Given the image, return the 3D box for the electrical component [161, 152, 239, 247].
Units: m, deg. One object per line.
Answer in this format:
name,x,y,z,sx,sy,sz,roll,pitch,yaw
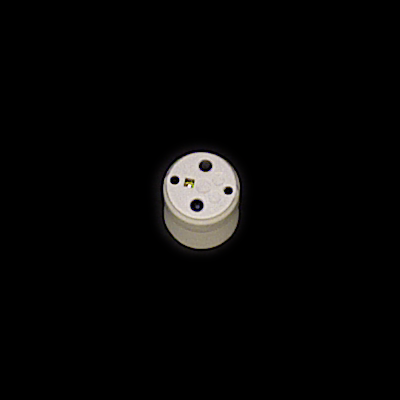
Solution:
electrical component,0.000,0.000,0.629,0.045,0.045,0.055,0,-17,0
